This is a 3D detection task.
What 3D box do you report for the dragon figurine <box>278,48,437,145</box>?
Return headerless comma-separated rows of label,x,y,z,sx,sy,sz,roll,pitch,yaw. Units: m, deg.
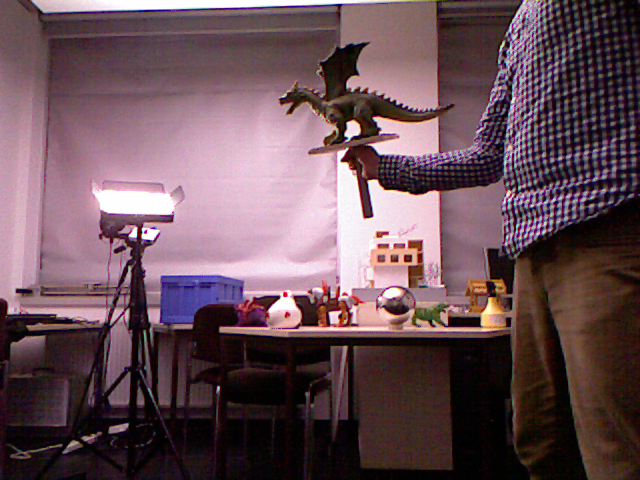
dragon figurine,0.087,-0.390,1.379,0.410,0.241,0.124,-10,12,18
